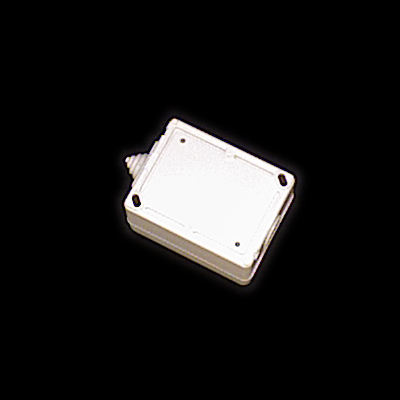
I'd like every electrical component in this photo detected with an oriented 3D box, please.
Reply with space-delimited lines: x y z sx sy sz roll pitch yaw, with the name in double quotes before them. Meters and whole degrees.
"electrical component" 0.000 0.000 0.629 0.096 0.062 0.060 26 -15 8
